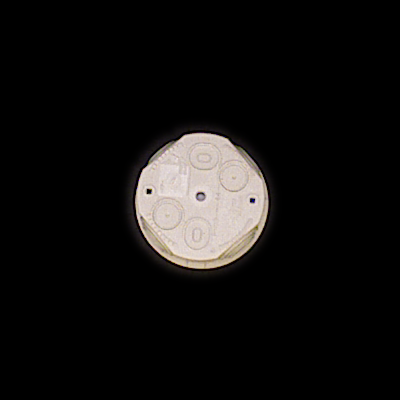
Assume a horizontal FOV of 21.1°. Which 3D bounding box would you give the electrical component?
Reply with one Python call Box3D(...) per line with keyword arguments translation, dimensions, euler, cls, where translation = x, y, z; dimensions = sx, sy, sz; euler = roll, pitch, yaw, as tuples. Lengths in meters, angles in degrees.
Box3D(translation=(0.000, 0.000, 0.633), dimensions=(0.080, 0.080, 0.050), euler=(0, -7, 1), cls="electrical component")
